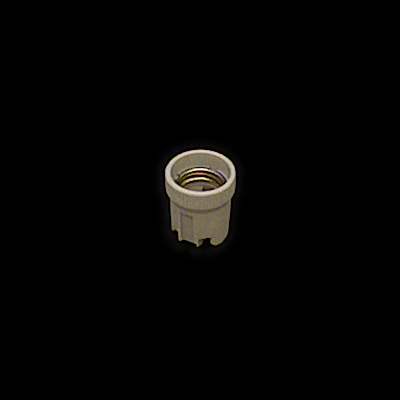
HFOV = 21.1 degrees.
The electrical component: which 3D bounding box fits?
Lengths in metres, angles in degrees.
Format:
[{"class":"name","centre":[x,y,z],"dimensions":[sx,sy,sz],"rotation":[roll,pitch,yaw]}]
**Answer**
[{"class":"electrical component","centre":[0.000,0.000,0.631],"dimensions":[0.040,0.047,0.039],"rotation":[1,42,0]}]
